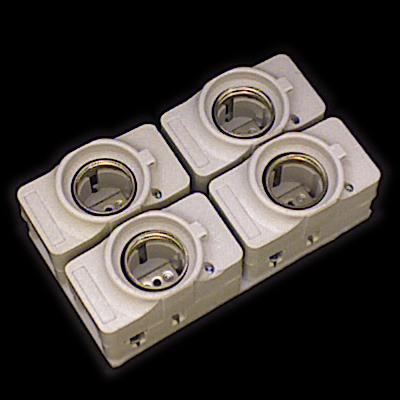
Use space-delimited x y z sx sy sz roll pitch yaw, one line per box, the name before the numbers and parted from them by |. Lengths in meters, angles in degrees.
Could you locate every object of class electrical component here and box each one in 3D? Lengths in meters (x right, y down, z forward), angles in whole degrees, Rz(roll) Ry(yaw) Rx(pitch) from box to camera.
electrical component | 0.000 0.000 0.626 0.187 0.105 0.060 -29 -23 -15
